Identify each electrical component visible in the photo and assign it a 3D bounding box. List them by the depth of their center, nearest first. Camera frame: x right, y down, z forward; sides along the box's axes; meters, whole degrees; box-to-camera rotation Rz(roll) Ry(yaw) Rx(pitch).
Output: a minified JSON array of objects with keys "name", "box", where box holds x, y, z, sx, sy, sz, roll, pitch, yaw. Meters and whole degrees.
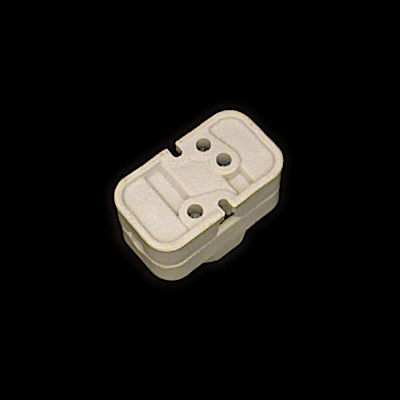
[{"name":"electrical component","box":[0.000,0.000,0.635,0.096,0.053,0.059,-36,-21,-16]}]
